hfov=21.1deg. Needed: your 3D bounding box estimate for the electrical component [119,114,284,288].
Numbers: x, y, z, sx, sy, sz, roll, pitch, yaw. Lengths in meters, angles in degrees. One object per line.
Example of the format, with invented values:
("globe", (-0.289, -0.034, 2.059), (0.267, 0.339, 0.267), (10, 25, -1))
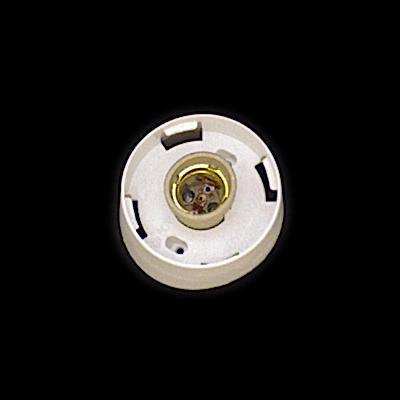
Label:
("electrical component", (0.000, 0.000, 0.625), (0.099, 0.099, 0.064), (0, -17, 0))
